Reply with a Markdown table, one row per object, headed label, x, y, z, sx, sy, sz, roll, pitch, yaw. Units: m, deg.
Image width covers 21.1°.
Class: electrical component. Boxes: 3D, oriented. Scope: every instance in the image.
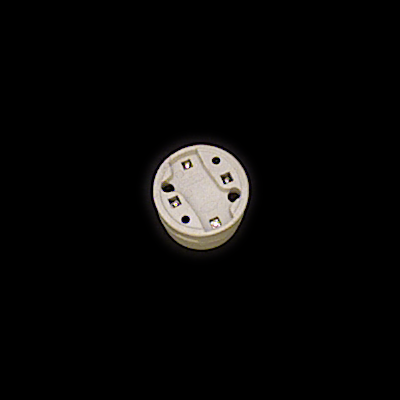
| label | x | y | z | sx | sy | sz | roll | pitch | yaw |
| --- | --- | --- | --- | --- | --- | --- | --- | --- | --- |
| electrical component | 0.000 | 0.000 | 0.635 | 0.055 | 0.056 | 0.047 | 0 | -17 | 0 |
